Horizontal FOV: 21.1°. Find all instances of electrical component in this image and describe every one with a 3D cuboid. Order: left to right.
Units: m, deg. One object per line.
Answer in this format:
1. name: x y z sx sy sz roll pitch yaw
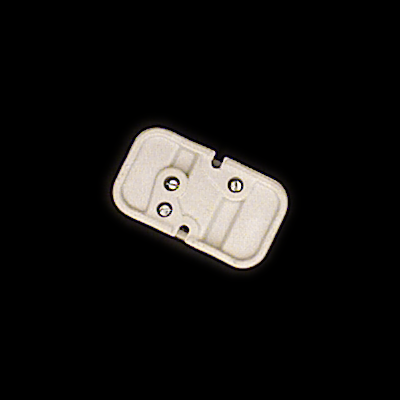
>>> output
1. electrical component: 0.000 0.000 0.636 0.095 0.054 0.059 25 -5 3
